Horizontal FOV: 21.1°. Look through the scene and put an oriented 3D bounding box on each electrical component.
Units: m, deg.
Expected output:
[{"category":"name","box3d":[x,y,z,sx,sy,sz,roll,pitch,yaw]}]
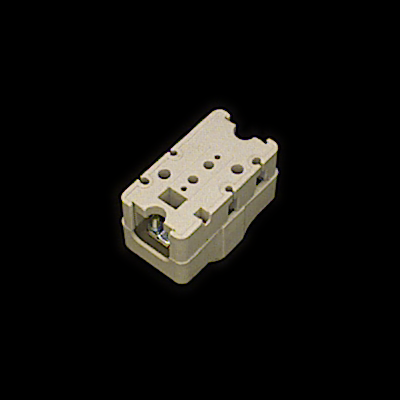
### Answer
[{"category":"electrical component","box3d":[0.000,0.000,0.637,0.050,0.090,0.056,34,-30,22]}]
